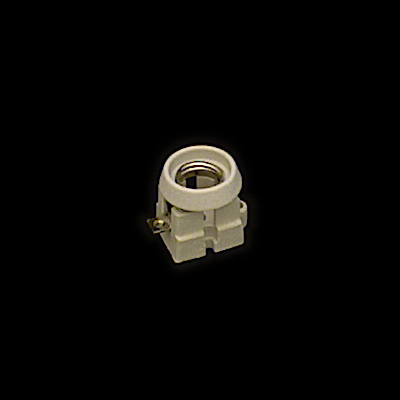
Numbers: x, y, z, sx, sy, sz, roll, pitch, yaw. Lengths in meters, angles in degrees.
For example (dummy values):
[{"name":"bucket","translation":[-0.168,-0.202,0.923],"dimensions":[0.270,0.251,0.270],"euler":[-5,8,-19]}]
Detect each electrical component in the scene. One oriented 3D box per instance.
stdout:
[{"name":"electrical component","translation":[0.000,0.000,0.639],"dimensions":[0.067,0.056,0.048],"euler":[-17,43,-18]}]
